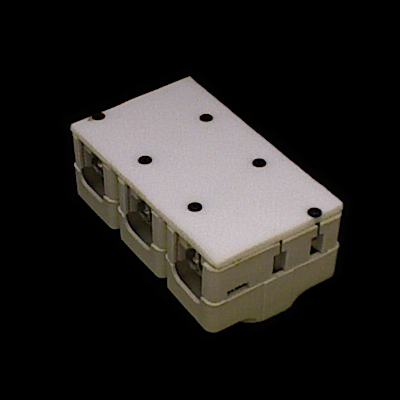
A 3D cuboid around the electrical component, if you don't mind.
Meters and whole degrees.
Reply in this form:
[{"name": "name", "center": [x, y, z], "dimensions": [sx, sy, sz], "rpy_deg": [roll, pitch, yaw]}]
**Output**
[{"name": "electrical component", "center": [0.000, 0.000, 0.636], "dimensions": [0.089, 0.063, 0.148], "rpy_deg": [-25, 48, -25]}]
